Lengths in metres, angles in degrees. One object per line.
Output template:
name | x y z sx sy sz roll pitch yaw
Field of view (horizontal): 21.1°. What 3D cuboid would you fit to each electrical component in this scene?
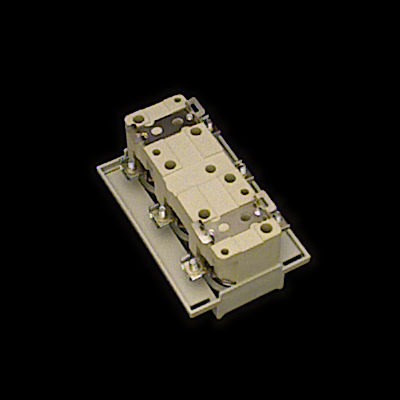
electrical component | 0.000 0.000 0.633 0.079 0.120 0.063 -25 -33 -17
